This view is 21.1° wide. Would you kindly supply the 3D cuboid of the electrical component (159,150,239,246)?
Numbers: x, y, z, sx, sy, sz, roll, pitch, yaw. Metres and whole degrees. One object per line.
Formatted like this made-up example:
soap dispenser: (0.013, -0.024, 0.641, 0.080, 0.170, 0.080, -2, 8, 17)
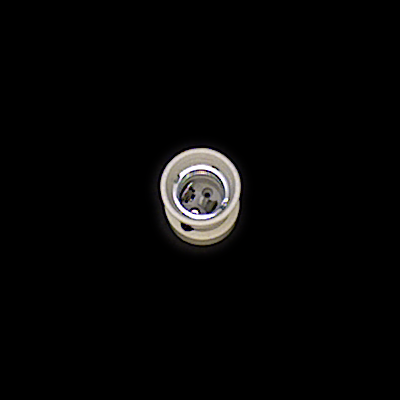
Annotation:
electrical component: (0.000, 0.000, 0.628, 0.045, 0.045, 0.055, 0, -17, 1)
